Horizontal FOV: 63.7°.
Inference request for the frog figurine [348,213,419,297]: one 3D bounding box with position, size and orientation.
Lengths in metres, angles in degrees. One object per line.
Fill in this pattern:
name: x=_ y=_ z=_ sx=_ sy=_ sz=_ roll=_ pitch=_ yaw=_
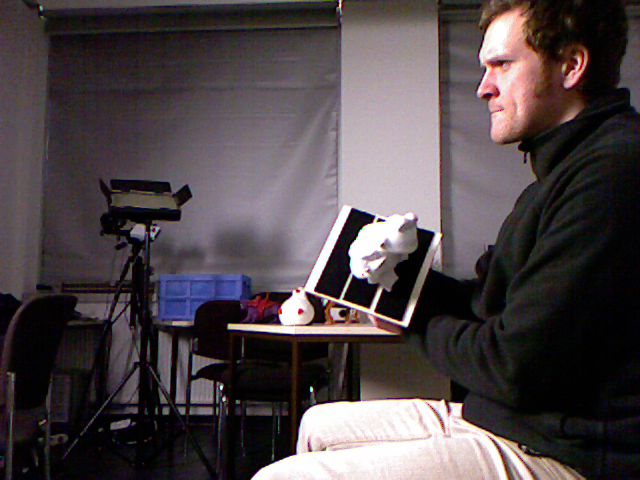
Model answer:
frog figurine: x=0.111 y=0.008 z=0.909 sx=0.124 sy=0.140 sz=0.156 roll=36 pitch=-21 yaw=23
